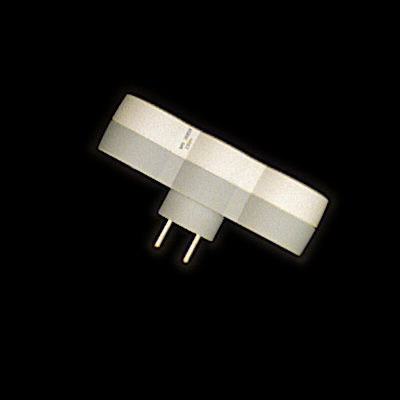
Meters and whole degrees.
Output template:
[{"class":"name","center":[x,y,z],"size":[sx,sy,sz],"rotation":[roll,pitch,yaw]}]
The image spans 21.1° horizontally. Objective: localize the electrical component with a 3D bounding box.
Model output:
[{"class":"electrical component","center":[0.000,0.000,0.639],"size":[0.138,0.074,0.052],"rotation":[28,-3,3]}]
